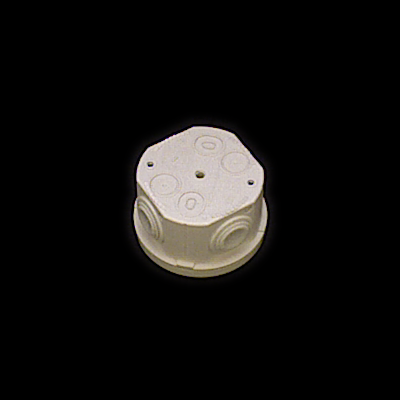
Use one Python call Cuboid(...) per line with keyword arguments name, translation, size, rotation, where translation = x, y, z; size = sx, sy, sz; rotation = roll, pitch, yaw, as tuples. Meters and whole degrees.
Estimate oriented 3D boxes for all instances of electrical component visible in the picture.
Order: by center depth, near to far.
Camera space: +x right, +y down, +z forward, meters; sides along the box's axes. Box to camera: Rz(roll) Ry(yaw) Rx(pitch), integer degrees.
Cuboid(name="electrical component", translation=(0.000, 0.000, 0.632), size=(0.080, 0.080, 0.051), rotation=(0, -38, 0))
